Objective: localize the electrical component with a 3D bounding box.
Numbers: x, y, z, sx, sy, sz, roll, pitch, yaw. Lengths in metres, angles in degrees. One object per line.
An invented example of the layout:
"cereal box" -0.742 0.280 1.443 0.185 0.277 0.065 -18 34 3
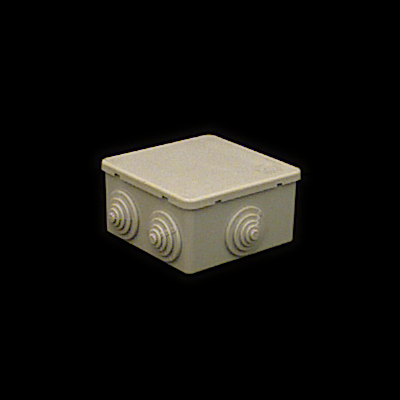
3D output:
"electrical component" 0.000 0.000 0.649 0.100 0.049 0.098 -16 27 -37
